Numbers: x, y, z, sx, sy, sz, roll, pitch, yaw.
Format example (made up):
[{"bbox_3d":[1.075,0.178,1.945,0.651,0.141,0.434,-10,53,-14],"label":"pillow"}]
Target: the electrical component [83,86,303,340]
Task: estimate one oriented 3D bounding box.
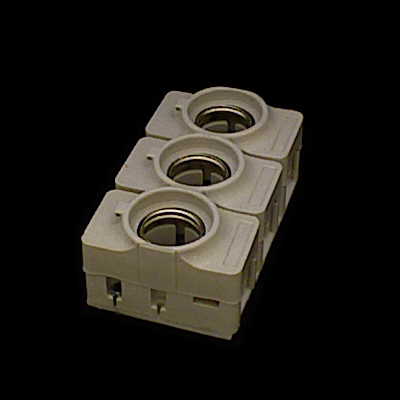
[{"bbox_3d":[0.000,0.000,0.636,0.089,0.063,0.147,12,42,13],"label":"electrical component"}]
